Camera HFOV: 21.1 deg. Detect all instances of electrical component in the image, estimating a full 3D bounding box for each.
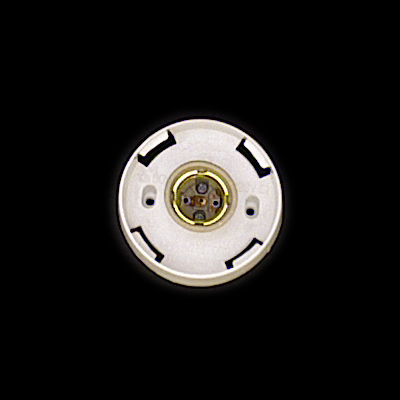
[{"bbox_3d":[0.000,0.000,0.625,0.099,0.099,0.064,0,-7,0],"label":"electrical component"}]
